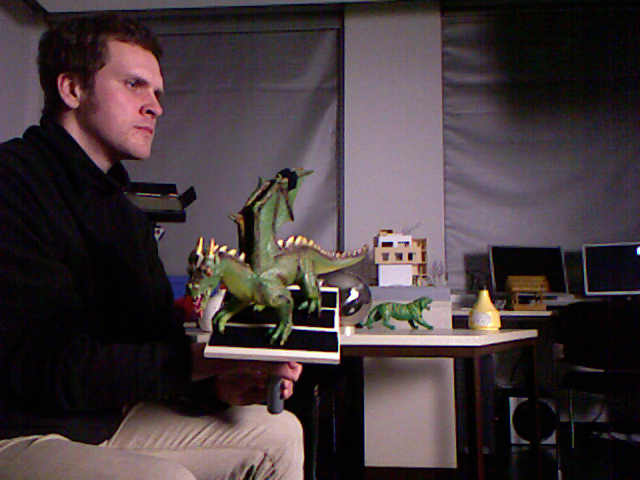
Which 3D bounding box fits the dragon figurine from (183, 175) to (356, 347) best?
[{"bbox_3d":[-0.056,0.014,0.804,0.123,0.238,0.417,22,34,28],"label":"dragon figurine"}]
